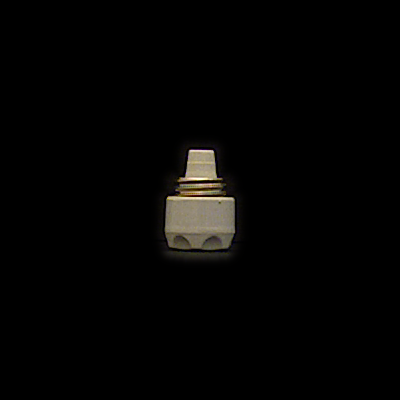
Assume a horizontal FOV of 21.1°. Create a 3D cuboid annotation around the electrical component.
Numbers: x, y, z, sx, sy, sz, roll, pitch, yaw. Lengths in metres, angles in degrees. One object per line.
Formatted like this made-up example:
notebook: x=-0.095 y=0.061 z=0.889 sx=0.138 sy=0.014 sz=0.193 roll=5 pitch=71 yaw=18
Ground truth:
electrical component: x=0.000 y=0.000 z=0.655 sx=0.043 sy=0.062 sz=0.043 roll=1 pitch=3 yaw=0
